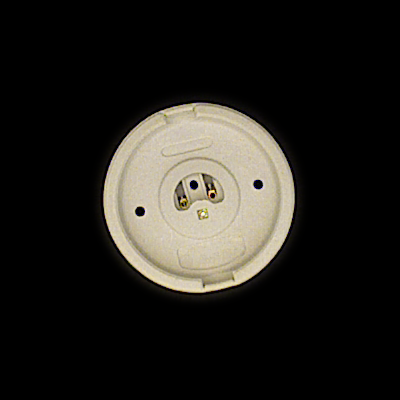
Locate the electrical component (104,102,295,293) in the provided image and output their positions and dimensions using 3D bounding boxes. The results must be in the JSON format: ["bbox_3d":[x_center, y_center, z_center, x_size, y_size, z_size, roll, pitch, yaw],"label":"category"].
[{"bbox_3d":[0.000,0.000,0.634,0.108,0.108,0.060,0,-6,0],"label":"electrical component"}]
